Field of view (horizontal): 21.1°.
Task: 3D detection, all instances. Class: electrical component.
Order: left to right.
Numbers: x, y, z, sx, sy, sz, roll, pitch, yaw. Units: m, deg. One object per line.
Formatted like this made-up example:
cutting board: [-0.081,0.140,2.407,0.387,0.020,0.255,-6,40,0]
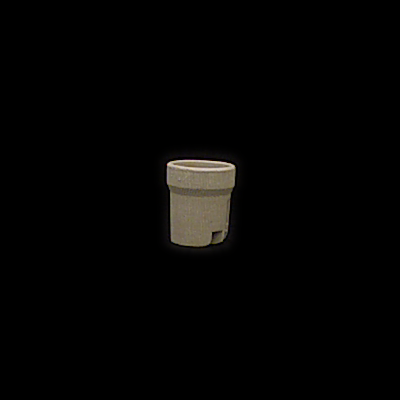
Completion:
electrical component: [0.000,0.000,0.644,0.040,0.046,0.040,1,11,0]
